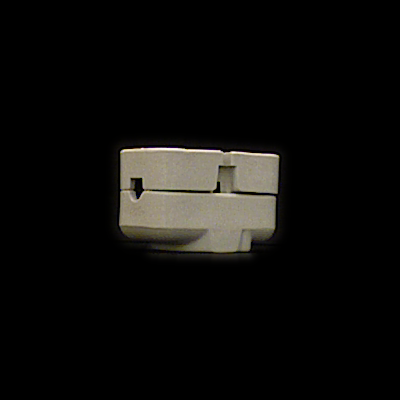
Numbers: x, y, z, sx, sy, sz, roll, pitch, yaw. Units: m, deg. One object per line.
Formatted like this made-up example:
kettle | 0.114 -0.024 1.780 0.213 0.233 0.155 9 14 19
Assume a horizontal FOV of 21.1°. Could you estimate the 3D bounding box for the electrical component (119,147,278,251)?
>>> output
electrical component | 0.000 0.000 0.656 0.096 0.059 0.053 1 1 -38
